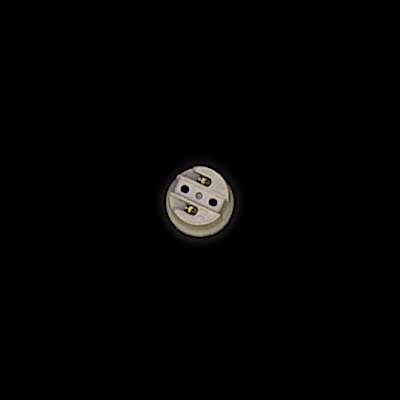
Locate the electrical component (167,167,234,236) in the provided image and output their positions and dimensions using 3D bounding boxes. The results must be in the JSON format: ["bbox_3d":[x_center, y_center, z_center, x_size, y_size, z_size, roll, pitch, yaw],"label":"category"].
[{"bbox_3d":[0.000,0.000,0.634,0.040,0.040,0.046,0,-6,0],"label":"electrical component"}]
